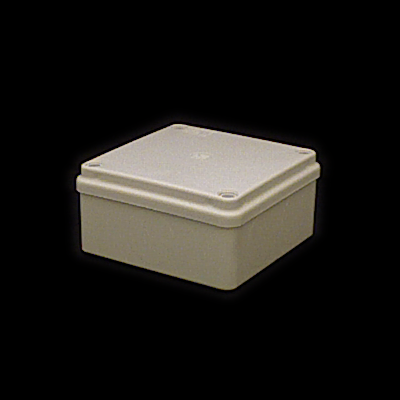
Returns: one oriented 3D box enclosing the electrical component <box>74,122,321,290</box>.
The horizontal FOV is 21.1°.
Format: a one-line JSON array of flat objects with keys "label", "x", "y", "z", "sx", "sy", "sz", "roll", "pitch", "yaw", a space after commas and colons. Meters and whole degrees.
[{"label": "electrical component", "x": 0.000, "y": 0.000, "z": 0.638, "sx": 0.108, "sy": 0.057, "sz": 0.108, "roll": 13, "pitch": 24, "yaw": 29}]
